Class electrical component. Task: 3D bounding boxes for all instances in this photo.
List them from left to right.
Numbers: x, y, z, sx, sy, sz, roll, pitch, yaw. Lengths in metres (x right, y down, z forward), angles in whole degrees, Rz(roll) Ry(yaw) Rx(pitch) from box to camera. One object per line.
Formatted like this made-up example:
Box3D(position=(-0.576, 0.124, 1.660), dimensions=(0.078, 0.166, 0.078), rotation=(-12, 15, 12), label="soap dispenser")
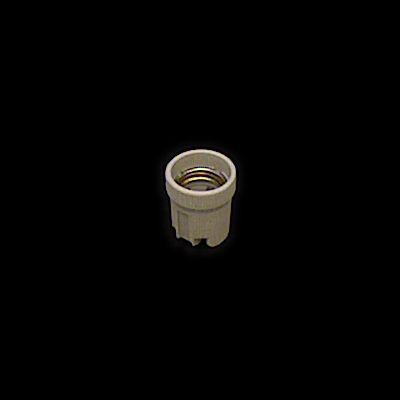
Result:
Box3D(position=(0.000, 0.000, 0.632), dimensions=(0.040, 0.047, 0.039), rotation=(1, 42, 0), label="electrical component")
